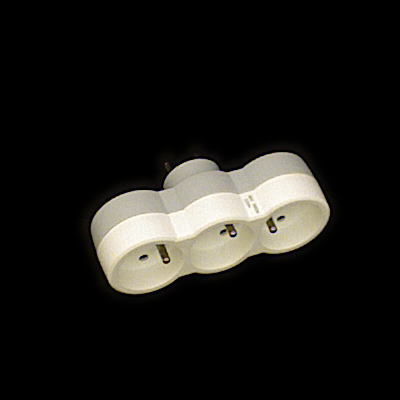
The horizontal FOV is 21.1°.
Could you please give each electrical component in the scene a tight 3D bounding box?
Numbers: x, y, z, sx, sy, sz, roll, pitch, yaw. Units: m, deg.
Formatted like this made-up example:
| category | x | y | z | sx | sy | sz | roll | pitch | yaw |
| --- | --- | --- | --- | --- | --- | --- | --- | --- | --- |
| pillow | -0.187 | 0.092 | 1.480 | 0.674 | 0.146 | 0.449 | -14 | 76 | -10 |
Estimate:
| category | x | y | z | sx | sy | sz | roll | pitch | yaw |
| --- | --- | --- | --- | --- | --- | --- | --- | --- | --- |
| electrical component | 0.000 | 0.000 | 0.641 | 0.139 | 0.073 | 0.052 | -15 | -37 | -12 |
